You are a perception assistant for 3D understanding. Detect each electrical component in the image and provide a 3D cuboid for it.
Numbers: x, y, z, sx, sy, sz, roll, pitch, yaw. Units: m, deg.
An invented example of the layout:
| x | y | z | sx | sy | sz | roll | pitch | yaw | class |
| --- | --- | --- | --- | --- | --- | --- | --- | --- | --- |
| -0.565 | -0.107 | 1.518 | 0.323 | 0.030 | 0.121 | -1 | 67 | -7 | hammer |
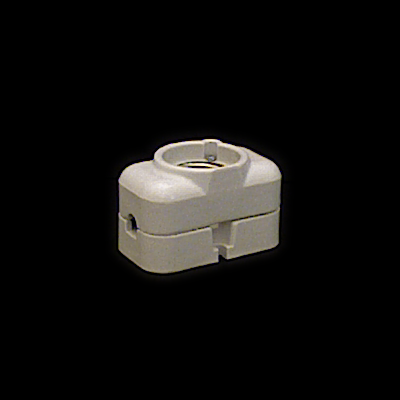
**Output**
| x | y | z | sx | sy | sz | roll | pitch | yaw | class |
| --- | --- | --- | --- | --- | --- | --- | --- | --- | --- |
| 0.000 | 0.000 | 0.647 | 0.096 | 0.060 | 0.052 | -12 | 26 | -31 | electrical component |
